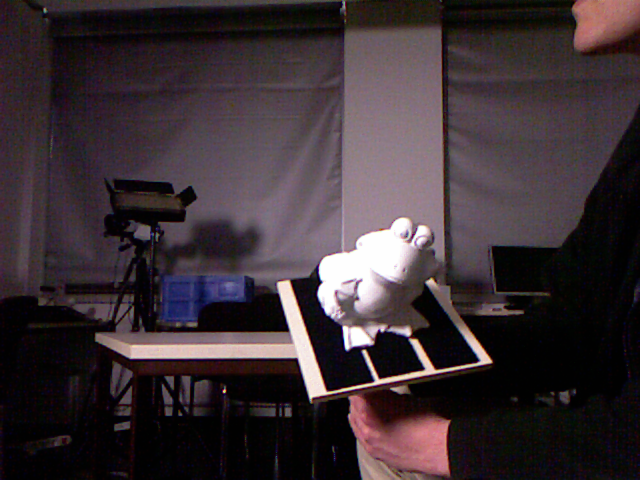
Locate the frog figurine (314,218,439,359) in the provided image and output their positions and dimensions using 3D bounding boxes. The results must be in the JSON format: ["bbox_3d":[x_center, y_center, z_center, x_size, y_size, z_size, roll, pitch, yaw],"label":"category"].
[{"bbox_3d":[0.063,0.035,0.572,0.138,0.156,0.126,-2,34,-5],"label":"frog figurine"}]
